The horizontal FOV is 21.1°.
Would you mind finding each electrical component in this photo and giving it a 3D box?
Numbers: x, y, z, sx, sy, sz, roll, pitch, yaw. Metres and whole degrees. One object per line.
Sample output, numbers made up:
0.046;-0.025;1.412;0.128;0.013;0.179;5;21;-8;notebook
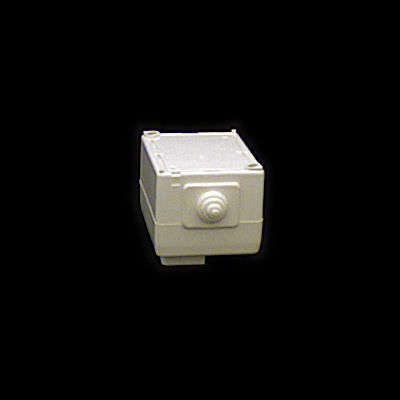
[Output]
0.000;0.000;0.632;0.062;0.061;0.095;-2;21;-10;electrical component
